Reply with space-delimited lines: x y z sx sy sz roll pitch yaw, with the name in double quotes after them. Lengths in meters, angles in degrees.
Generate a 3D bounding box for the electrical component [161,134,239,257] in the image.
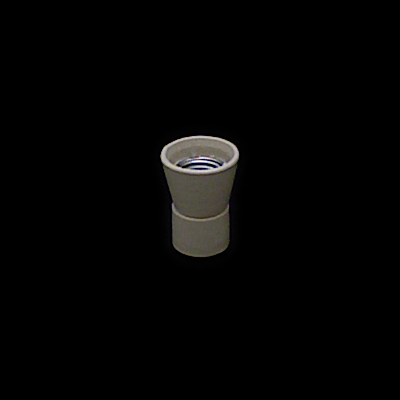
0.000 0.000 0.632 0.044 0.066 0.044 0 32 0 "electrical component"
